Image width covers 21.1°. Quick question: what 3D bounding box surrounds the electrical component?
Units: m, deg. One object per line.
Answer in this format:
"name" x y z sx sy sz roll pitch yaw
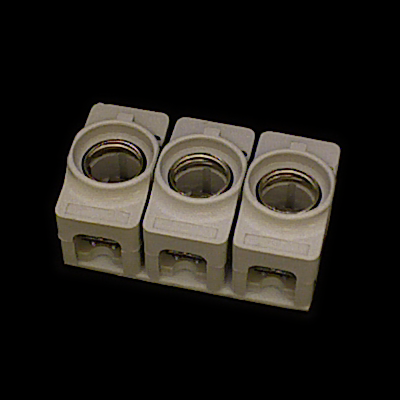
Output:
"electrical component" 0.000 0.000 0.635 0.150 0.088 0.062 10 -38 7
